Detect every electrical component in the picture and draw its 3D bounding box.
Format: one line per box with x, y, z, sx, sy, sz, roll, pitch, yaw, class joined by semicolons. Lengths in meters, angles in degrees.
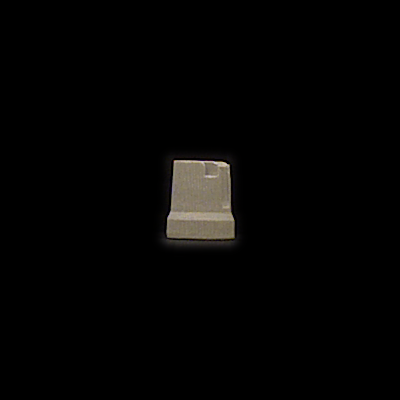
0.000;0.000;0.649;0.040;0.046;0.040;1;1;0;electrical component
